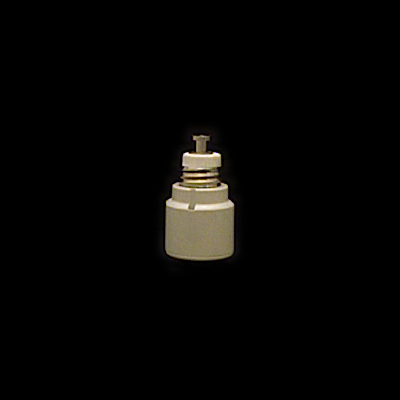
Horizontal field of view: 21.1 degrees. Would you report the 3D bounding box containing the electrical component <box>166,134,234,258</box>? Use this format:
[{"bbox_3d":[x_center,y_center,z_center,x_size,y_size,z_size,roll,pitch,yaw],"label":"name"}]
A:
[{"bbox_3d":[0.000,0.000,0.644,0.040,0.079,0.040,1,12,0],"label":"electrical component"}]
